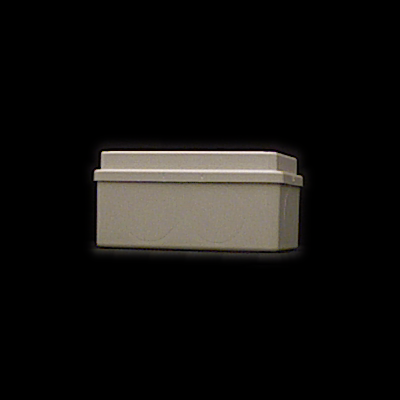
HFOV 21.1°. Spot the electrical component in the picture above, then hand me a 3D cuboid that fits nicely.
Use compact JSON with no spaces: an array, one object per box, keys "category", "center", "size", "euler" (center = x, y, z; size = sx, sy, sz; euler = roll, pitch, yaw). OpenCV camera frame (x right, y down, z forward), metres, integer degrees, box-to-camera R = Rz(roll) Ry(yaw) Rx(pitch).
[{"category":"electrical component","center":[0.000,0.000,0.651],"size":[0.113,0.057,0.078],"euler":[1,0,15]}]
